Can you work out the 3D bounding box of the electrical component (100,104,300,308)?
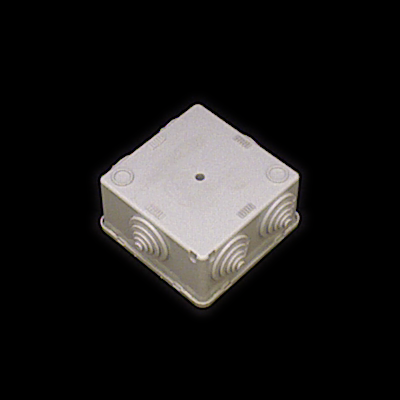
[{"bbox_3d":[0.000,0.000,0.632,0.099,0.049,0.100,37,61,24],"label":"electrical component"}]
